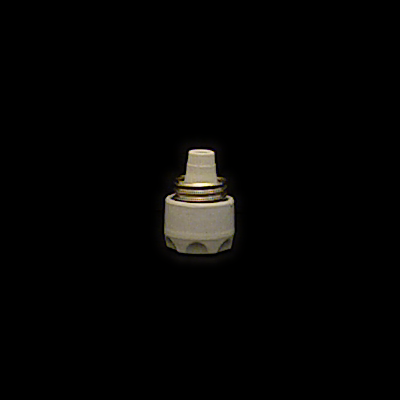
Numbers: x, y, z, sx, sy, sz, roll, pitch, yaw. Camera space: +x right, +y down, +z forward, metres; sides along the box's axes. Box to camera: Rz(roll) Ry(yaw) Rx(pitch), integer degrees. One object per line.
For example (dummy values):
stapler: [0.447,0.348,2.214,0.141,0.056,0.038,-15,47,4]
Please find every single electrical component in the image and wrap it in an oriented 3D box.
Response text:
electrical component: [0.000,0.000,0.650,0.043,0.062,0.043,1,13,0]
